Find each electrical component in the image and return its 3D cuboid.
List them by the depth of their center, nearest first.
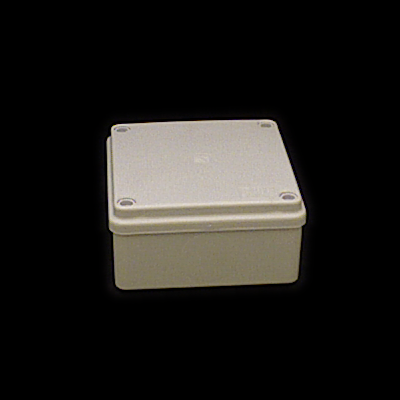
[{"bbox_3d":[0.000,0.000,0.636,0.109,0.057,0.107,-2,31,-5],"label":"electrical component"}]
